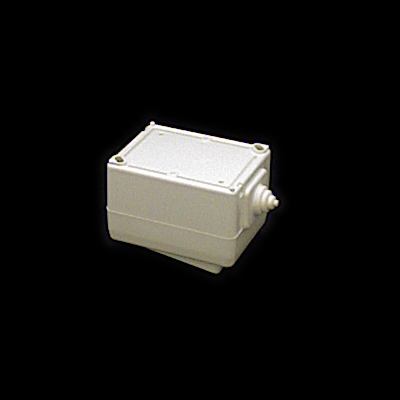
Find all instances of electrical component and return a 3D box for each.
[{"bbox_3d":[0.000,0.000,0.634,0.096,0.061,0.061,13,33,19],"label":"electrical component"}]
